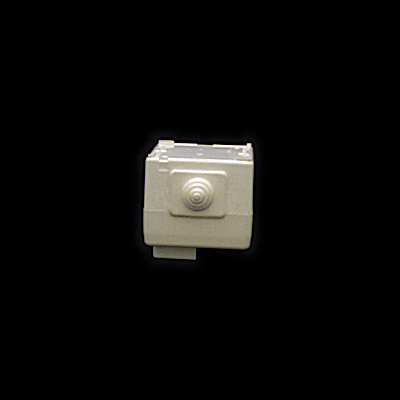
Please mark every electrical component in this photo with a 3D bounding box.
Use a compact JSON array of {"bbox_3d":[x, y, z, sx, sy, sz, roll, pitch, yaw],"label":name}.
[{"bbox_3d":[0.000,0.000,0.636,0.062,0.061,0.095,2,10,2],"label":"electrical component"}]
